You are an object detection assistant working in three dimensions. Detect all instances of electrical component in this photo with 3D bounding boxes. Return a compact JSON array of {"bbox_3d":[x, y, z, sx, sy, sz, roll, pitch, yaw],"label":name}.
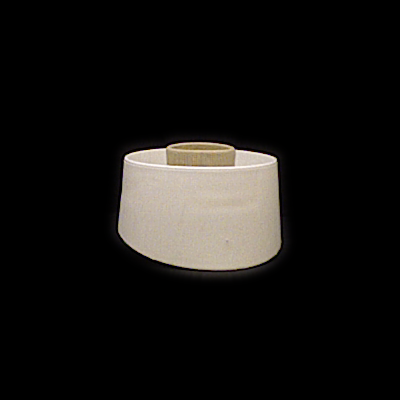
[{"bbox_3d":[0.000,0.000,0.644,0.099,0.064,0.098,1,11,0],"label":"electrical component"}]
